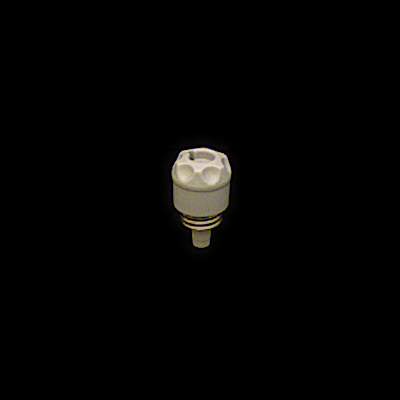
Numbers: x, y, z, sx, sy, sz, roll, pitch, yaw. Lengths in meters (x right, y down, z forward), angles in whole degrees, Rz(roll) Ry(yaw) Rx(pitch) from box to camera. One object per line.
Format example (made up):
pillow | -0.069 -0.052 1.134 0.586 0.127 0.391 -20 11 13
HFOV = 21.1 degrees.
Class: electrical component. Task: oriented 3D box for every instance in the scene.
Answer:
electrical component | 0.000 0.000 0.643 0.035 0.062 0.034 1 32 0
